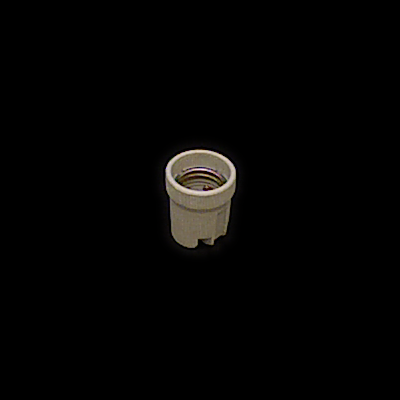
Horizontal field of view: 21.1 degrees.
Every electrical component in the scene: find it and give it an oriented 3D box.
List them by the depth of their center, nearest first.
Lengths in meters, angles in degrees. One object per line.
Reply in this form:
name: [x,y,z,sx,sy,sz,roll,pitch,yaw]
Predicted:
electrical component: [0.000,0.000,0.632,0.040,0.047,0.039,1,42,0]
